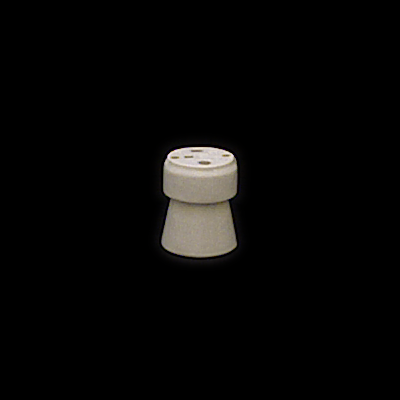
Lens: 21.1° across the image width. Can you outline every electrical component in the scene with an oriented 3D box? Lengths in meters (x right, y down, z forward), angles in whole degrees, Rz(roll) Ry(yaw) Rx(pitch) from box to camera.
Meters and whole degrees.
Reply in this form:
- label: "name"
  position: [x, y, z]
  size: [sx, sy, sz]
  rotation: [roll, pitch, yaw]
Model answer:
- label: "electrical component"
  position: [0.000, 0.000, 0.641]
  size: [0.045, 0.056, 0.044]
  rotation: [1, 21, 0]
